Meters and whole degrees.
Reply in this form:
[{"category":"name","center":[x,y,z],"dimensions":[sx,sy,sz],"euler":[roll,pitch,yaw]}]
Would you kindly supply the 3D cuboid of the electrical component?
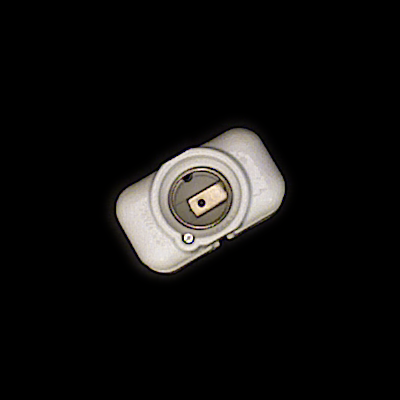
[{"category":"electrical component","center":[0.000,0.000,0.635],"dimensions":[0.095,0.054,0.059],"euler":[-30,-5,-2]}]
